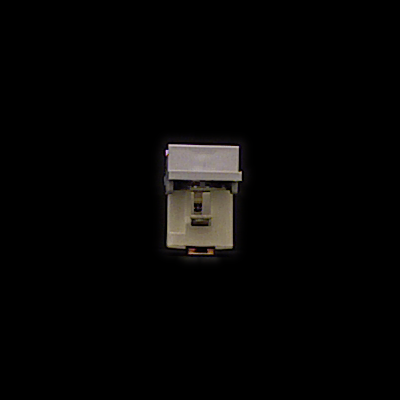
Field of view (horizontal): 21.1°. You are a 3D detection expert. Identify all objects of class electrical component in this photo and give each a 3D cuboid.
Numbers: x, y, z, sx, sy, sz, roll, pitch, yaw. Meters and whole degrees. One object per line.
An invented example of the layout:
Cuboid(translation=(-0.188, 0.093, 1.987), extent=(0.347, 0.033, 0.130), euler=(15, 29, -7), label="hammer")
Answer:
Cuboid(translation=(0.000, 0.000, 0.646), extent=(0.042, 0.064, 0.081), euler=(2, 0, -3), label="electrical component")
